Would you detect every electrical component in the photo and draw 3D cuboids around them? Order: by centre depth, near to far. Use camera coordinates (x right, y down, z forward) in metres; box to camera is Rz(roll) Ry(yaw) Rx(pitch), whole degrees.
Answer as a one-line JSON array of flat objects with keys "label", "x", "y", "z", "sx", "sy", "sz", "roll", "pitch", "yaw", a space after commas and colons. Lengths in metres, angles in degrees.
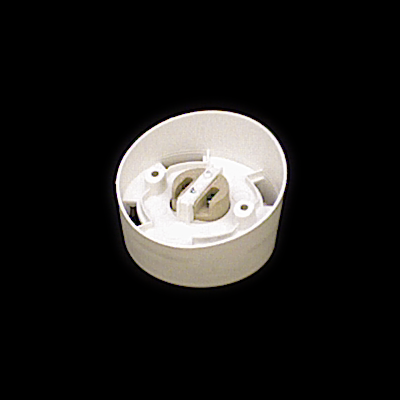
[{"label": "electrical component", "x": 0.000, "y": 0.000, "z": 0.630, "sx": 0.099, "sy": 0.065, "sz": 0.097, "roll": 1, "pitch": 41, "yaw": 0}]
